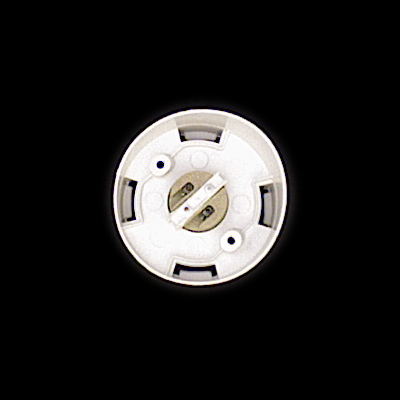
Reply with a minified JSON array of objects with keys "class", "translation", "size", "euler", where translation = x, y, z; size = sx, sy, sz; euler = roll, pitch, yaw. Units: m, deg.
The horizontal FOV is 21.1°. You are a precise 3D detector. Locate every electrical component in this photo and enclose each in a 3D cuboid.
[{"class":"electrical component","translation":[0.000,0.000,0.624],"size":[0.099,0.099,0.064],"euler":[0,-8,0]}]
